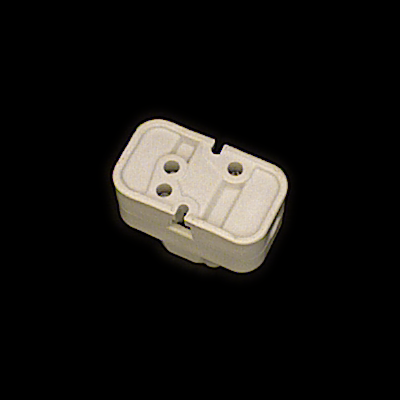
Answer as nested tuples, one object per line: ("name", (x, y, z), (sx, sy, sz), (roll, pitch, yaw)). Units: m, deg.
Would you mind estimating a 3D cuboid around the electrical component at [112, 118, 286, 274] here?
("electrical component", (0.000, 0.000, 0.634), (0.095, 0.054, 0.059), (23, -24, 11))
